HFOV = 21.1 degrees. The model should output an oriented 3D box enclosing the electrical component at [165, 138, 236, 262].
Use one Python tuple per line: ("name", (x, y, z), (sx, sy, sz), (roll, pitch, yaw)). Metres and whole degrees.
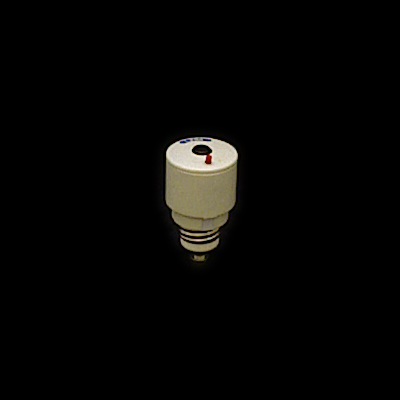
("electrical component", (0.000, 0.000, 0.627), (0.040, 0.079, 0.039), (1, 32, 0))
